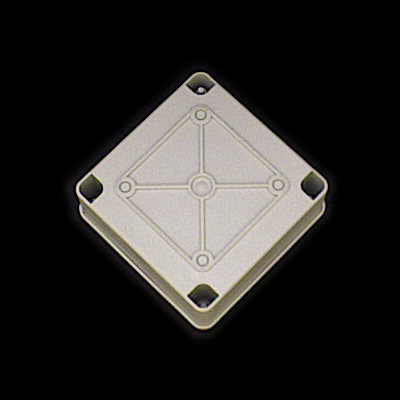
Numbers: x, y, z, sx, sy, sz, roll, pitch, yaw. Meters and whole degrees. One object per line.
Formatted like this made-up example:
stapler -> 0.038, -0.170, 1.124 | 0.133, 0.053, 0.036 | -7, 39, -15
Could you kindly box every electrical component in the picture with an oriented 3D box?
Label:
electrical component -> 0.000, 0.000, 0.628 | 0.108, 0.109, 0.056 | 43, -13, 12
